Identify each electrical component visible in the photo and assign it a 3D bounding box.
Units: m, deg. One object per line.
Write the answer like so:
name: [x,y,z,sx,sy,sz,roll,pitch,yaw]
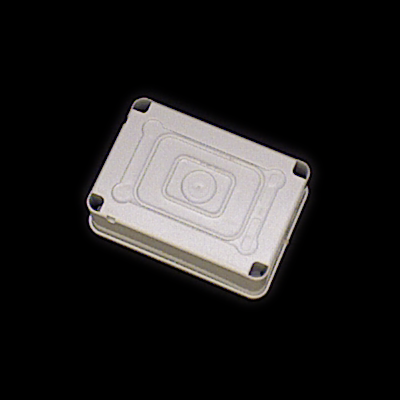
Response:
electrical component: [0.000,0.000,0.628,0.113,0.078,0.057,23,-16,6]
